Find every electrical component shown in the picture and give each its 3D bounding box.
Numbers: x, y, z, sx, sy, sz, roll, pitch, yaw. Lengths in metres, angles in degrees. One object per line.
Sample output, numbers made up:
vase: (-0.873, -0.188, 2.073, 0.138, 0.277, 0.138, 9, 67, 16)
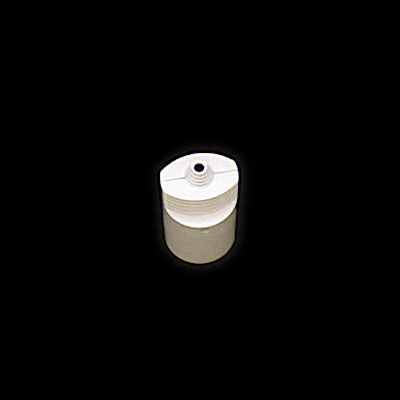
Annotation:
electrical component: (0.000, 0.000, 0.617, 0.043, 0.043, 0.081, 0, -27, 0)
